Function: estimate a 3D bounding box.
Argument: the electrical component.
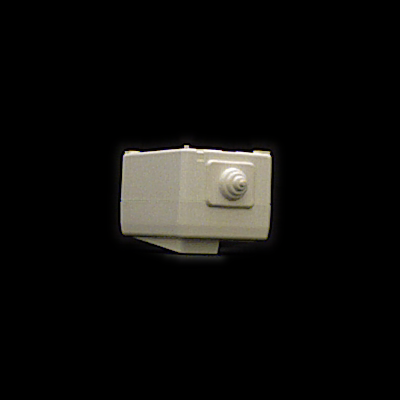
[{"bbox_3d":[0.000,0.000,0.644,0.061,0.061,0.096,2,-1,-31],"label":"electrical component"}]
